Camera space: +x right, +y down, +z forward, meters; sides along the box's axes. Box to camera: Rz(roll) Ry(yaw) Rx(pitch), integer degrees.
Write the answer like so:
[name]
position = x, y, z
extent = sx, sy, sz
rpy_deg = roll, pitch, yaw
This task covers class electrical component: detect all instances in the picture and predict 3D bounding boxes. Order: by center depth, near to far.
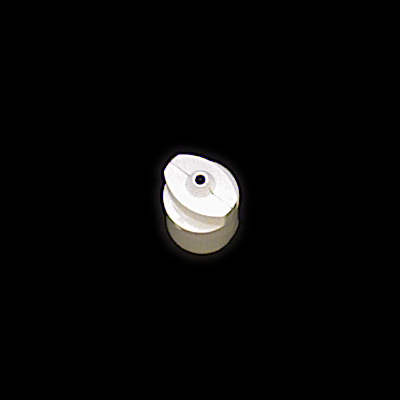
[electrical component]
position = 0.000, 0.000, 0.616
extent = 0.043, 0.043, 0.080
rpy_deg = 0, -17, 1
